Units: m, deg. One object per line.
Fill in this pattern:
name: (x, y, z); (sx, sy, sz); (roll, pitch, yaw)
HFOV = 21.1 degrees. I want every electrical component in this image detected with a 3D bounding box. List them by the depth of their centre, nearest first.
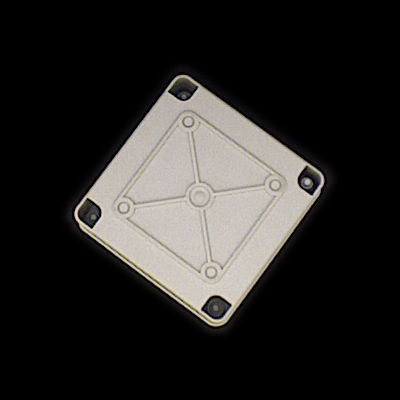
electrical component: (0.000, 0.000, 0.629); (0.109, 0.109, 0.056); (36, -6, 3)
